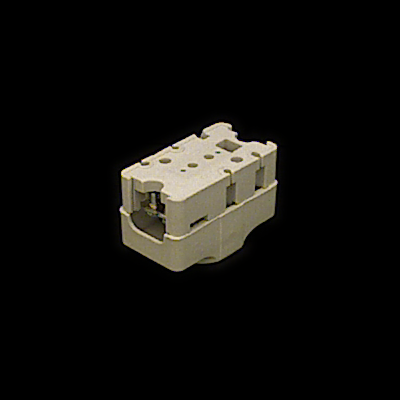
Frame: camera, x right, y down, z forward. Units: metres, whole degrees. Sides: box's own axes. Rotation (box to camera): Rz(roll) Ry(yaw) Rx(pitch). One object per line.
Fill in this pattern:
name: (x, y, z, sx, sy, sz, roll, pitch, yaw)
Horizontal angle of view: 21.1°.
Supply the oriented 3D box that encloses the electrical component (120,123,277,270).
electrical component: (0.000, 0.000, 0.643, 0.049, 0.056, 0.090, 26, 39, 35)
